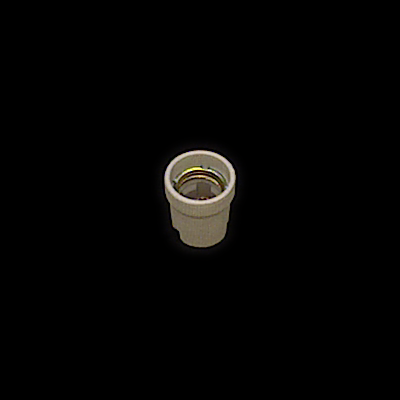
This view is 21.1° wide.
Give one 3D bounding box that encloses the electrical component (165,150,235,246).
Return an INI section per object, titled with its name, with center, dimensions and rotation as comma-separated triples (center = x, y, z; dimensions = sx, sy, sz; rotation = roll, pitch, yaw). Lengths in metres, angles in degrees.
[electrical component]
center = 0.000, 0.000, 0.631
dimensions = 0.040, 0.040, 0.047
rotation = 0, -38, -1
